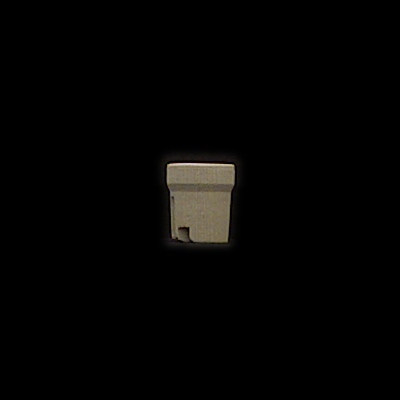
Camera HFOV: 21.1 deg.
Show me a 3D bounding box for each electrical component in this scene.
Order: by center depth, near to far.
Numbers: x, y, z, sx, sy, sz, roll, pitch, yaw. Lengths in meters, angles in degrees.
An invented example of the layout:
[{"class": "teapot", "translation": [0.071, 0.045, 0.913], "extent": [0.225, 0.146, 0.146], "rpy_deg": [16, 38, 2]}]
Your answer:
[{"class": "electrical component", "translation": [0.000, 0.000, 0.648], "extent": [0.040, 0.046, 0.040], "rpy_deg": [1, 1, 1]}]
